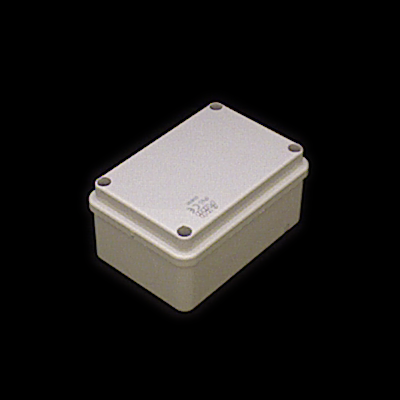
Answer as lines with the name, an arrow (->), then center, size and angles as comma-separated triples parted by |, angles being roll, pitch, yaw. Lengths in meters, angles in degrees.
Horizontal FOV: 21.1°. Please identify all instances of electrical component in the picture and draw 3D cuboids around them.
electrical component -> 0.000, 0.000, 0.630 | 0.077, 0.057, 0.113 | 31, 50, 29
